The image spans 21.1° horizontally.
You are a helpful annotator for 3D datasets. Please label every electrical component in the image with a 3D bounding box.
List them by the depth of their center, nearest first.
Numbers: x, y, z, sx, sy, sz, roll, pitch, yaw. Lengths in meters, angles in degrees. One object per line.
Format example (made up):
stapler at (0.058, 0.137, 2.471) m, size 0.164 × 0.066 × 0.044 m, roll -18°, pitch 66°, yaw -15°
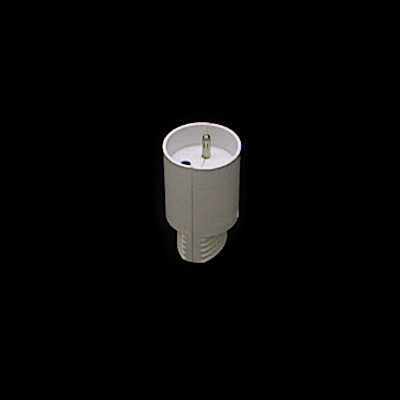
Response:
electrical component at (0.000, 0.000, 0.624) m, size 0.043 × 0.082 × 0.042 m, roll 1°, pitch 41°, yaw -1°
